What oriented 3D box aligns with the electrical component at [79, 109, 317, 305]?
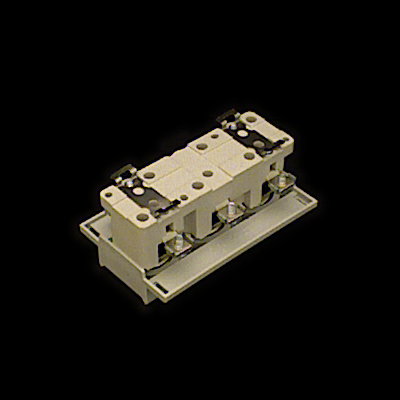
[{"bbox_3d":[0.000,0.000,0.639,0.122,0.063,0.077,-31,50,-30],"label":"electrical component"}]
